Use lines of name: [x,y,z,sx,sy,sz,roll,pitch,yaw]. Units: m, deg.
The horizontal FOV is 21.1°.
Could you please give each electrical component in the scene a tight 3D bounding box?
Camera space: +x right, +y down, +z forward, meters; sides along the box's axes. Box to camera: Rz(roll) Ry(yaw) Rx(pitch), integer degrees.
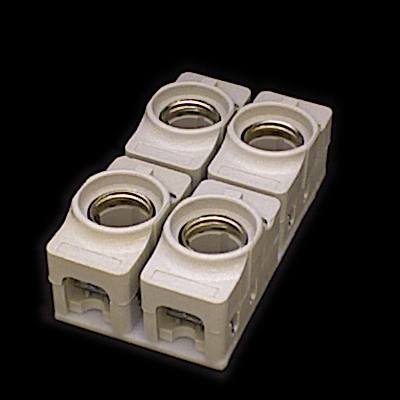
electrical component: [0.000,0.000,0.630,0.105,0.061,0.185,16,44,16]
